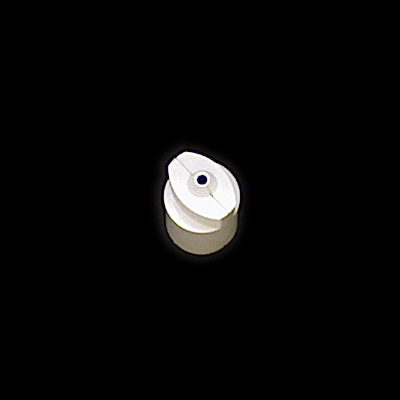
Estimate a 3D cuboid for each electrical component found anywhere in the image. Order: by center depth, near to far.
[{"bbox_3d":[0.000,0.000,0.616,0.043,0.043,0.080,0,-17,0],"label":"electrical component"}]
